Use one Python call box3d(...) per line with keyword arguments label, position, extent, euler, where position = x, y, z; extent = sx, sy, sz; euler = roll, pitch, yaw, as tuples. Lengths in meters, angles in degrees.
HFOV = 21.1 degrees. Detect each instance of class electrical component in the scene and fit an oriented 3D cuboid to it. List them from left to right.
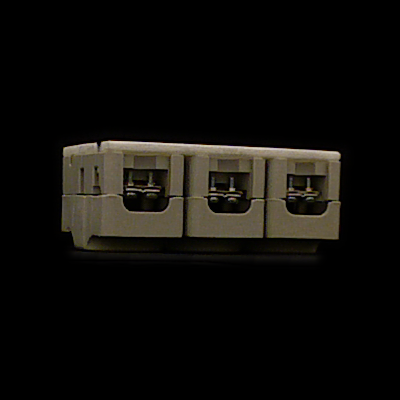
box3d(label="electrical component", position=(0.000, 0.000, 0.660), extent=(0.150, 0.062, 0.089), euler=(2, 0, -23))
